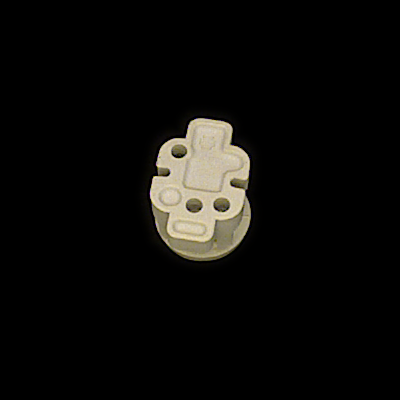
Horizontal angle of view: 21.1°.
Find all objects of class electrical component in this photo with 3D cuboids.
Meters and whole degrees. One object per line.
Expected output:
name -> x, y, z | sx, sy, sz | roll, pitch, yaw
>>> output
electrical component -> 0.000, 0.000, 0.636 | 0.058, 0.078, 0.057 | 8, -28, 5
